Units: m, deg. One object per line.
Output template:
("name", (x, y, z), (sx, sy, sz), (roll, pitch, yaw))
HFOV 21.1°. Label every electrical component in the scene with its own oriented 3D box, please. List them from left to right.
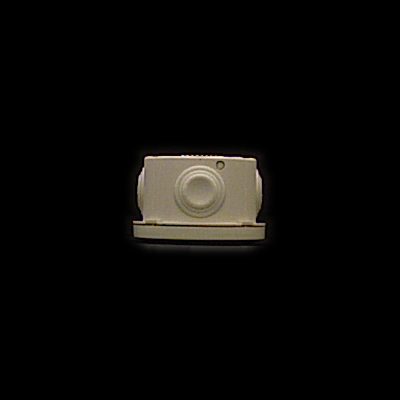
("electrical component", (0.000, 0.000, 0.650), (0.080, 0.051, 0.080), (1, 0, 0))
